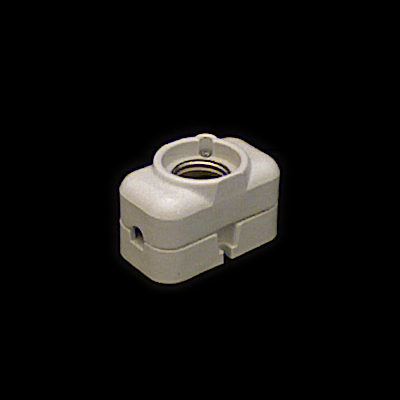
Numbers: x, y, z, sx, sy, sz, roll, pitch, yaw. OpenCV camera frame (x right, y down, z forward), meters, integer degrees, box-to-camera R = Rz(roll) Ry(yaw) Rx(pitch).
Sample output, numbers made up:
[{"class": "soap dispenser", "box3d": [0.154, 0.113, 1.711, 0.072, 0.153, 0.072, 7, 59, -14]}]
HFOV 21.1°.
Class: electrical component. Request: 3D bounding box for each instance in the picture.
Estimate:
[{"class": "electrical component", "box3d": [0.000, 0.000, 0.642, 0.095, 0.060, 0.053, -23, 40, -33]}]
